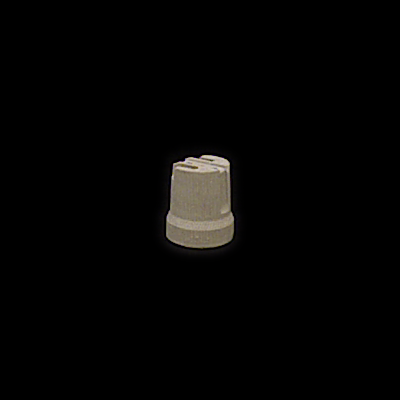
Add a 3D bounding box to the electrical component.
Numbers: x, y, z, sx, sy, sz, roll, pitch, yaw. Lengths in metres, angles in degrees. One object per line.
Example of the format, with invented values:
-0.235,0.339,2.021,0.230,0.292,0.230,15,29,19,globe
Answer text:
0.000,0.000,0.643,0.040,0.046,0.040,2,21,0,electrical component
